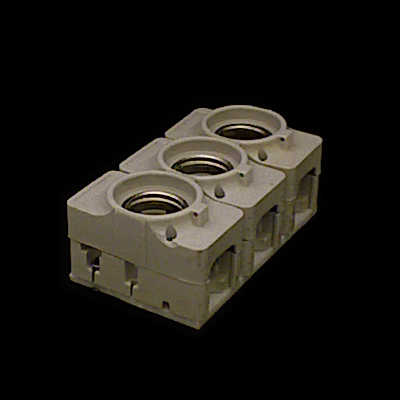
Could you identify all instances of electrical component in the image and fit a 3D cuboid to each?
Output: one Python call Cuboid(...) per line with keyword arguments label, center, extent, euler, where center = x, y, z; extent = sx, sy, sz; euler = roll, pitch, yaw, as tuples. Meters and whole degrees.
Cuboid(label="electrical component", center=(0.000, 0.000, 0.640), extent=(0.089, 0.063, 0.148), euler=(18, 35, 25))
